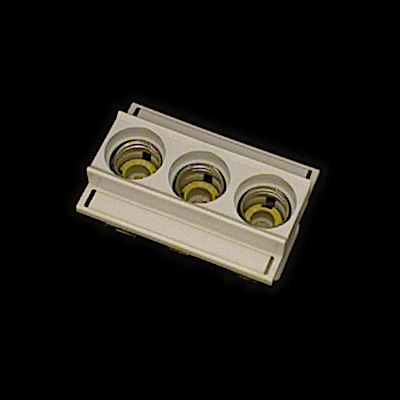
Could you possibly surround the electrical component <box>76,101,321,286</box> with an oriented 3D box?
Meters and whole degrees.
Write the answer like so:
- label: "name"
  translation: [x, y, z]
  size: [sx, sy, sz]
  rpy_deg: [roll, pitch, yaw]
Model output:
- label: "electrical component"
  translation: [0.000, 0.000, 0.638]
  size: [0.121, 0.078, 0.063]
  rpy_deg: [21, -26, 10]
